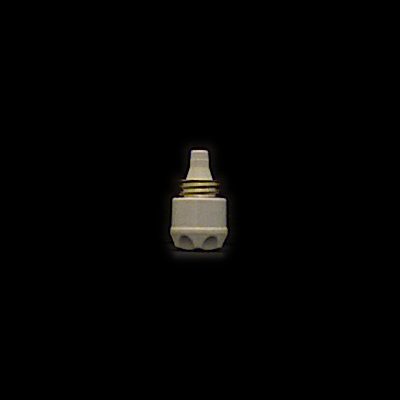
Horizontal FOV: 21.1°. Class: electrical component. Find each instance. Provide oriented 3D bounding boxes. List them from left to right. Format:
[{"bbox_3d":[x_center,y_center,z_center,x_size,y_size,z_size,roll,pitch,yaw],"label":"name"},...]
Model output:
[{"bbox_3d":[0.000,0.000,0.660,0.035,0.061,0.035,0,0,0],"label":"electrical component"}]
